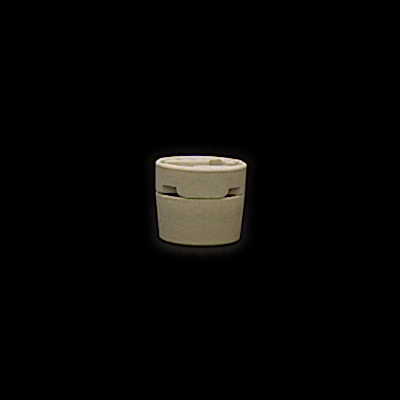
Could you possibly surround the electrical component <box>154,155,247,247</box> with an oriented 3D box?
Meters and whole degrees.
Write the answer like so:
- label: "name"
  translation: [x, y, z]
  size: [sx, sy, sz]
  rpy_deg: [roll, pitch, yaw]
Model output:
- label: "electrical component"
  translation: [0.000, 0.000, 0.647]
  size: [0.055, 0.047, 0.055]
  rpy_deg: [1, 11, 0]
